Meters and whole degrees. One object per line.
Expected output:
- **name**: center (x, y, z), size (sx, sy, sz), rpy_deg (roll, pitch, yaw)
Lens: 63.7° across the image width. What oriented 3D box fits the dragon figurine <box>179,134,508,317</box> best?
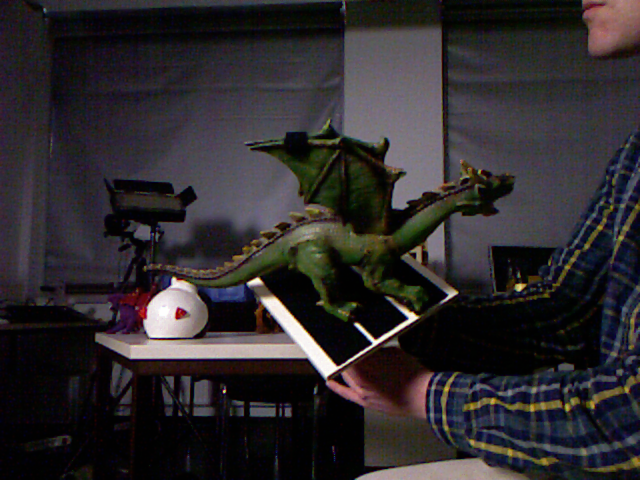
- **dragon figurine**: center (0.006, -0.025, 0.594), size (0.411, 0.237, 0.125), rpy_deg (-4, 43, 4)
